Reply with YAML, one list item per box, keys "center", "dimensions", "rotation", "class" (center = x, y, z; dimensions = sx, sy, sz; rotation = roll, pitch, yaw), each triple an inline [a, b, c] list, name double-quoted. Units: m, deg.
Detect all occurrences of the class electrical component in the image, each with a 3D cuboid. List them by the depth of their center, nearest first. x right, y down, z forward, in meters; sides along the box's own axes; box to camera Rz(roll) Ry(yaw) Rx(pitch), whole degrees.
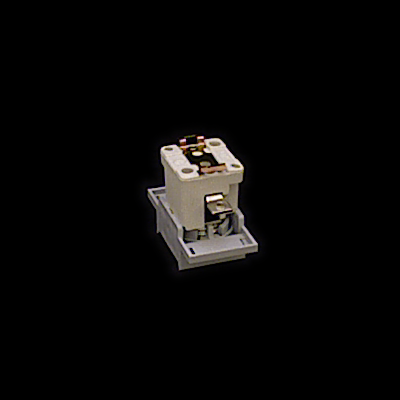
- center: [0.000, 0.000, 0.634]
  dimensions: [0.042, 0.064, 0.079]
  rotation: [-10, 33, -17]
  class: "electrical component"
